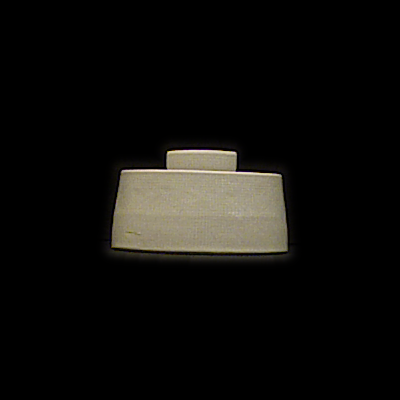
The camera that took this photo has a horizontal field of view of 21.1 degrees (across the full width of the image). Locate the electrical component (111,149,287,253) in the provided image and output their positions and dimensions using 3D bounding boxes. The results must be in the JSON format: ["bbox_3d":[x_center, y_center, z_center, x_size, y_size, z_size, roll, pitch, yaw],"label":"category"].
[{"bbox_3d":[0.000,0.000,0.658,0.108,0.060,0.108,1,1,1],"label":"electrical component"}]
